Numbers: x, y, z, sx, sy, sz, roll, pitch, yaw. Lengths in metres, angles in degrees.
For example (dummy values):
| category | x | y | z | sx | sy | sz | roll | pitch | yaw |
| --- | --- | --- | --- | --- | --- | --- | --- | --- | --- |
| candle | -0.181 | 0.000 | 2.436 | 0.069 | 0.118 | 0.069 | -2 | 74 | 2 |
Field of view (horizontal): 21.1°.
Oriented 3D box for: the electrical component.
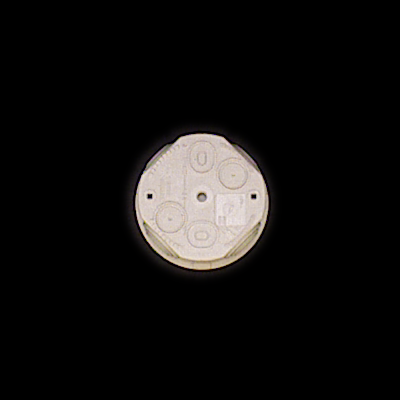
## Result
| category | x | y | z | sx | sy | sz | roll | pitch | yaw |
| --- | --- | --- | --- | --- | --- | --- | --- | --- | --- |
| electrical component | 0.000 | 0.000 | 0.633 | 0.080 | 0.080 | 0.050 | 0 | -7 | 0 |
